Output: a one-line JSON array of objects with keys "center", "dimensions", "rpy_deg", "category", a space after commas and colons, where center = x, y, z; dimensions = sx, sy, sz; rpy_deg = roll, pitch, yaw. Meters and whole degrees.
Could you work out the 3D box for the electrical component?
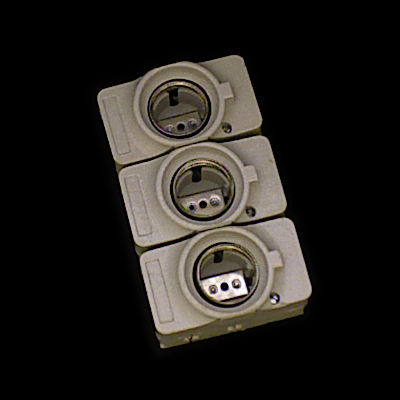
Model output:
[{"center": [0.000, 0.000, 0.631], "dimensions": [0.089, 0.150, 0.062], "rpy_deg": [-14, -16, -5], "category": "electrical component"}]
